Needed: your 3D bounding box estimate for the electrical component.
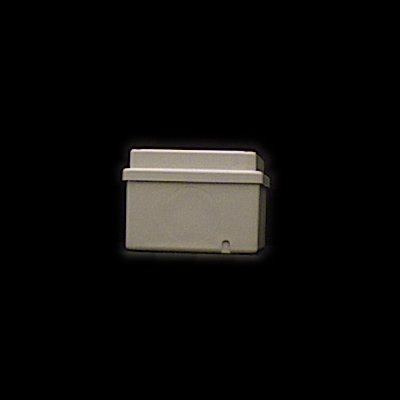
[{"bbox_3d":[0.001,0.000,0.650,0.078,0.057,0.113,1,0,6],"label":"electrical component"}]
